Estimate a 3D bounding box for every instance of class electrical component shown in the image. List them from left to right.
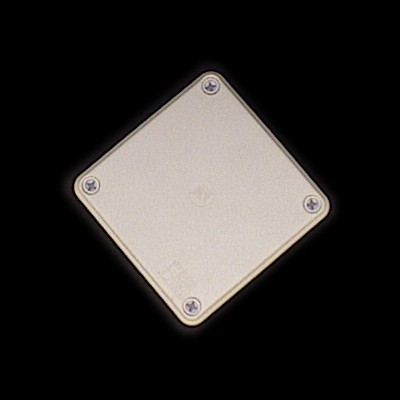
[{"bbox_3d":[0.000,0.000,0.631,0.109,0.109,0.056,-40,-5,-4],"label":"electrical component"}]
